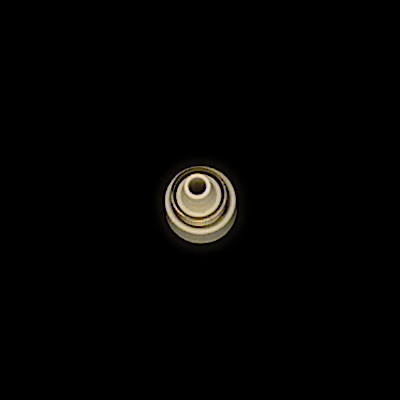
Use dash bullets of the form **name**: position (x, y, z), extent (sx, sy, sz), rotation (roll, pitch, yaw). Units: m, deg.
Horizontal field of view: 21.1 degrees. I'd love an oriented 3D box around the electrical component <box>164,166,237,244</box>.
- **electrical component**: position (0.000, 0.000, 0.634), extent (0.043, 0.043, 0.061), rotation (0, -16, 2)
